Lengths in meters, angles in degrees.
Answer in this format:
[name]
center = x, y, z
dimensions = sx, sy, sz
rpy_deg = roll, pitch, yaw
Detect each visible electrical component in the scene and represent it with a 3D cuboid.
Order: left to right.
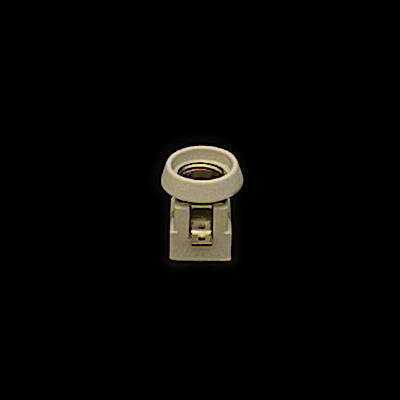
[electrical component]
center = 0.000, 0.000, 0.642
dimensions = 0.048, 0.056, 0.065
rpy_deg = -2, 32, -1
